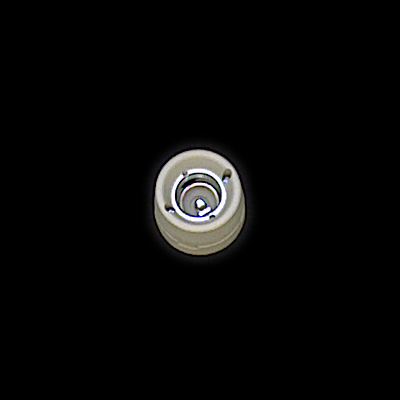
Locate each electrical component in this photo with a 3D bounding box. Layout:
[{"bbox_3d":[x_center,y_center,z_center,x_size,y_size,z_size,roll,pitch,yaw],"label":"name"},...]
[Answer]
[{"bbox_3d":[0.000,0.000,0.633,0.055,0.056,0.047,0,-17,1],"label":"electrical component"}]
